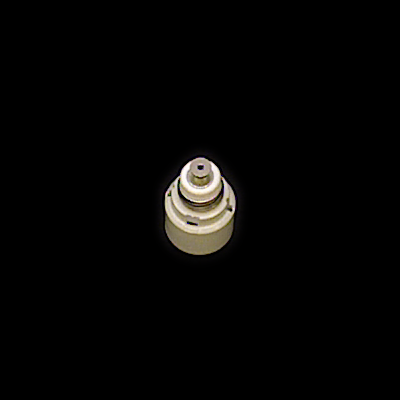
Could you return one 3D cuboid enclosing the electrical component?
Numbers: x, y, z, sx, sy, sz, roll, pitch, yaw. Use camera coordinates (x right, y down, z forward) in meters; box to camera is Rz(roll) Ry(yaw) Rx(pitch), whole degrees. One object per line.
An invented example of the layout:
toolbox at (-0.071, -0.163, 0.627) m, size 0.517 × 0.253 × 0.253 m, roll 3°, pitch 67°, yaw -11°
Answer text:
electrical component at (0.000, 0.000, 0.618) m, size 0.040 × 0.040 × 0.078 m, roll 0°, pitch -28°, yaw -1°
